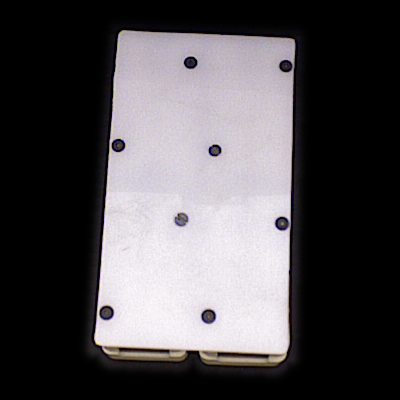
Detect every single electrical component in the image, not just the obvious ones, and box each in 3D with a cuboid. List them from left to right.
[{"bbox_3d":[0.000,0.000,0.625,0.105,0.187,0.060,2,-17,1],"label":"electrical component"}]
